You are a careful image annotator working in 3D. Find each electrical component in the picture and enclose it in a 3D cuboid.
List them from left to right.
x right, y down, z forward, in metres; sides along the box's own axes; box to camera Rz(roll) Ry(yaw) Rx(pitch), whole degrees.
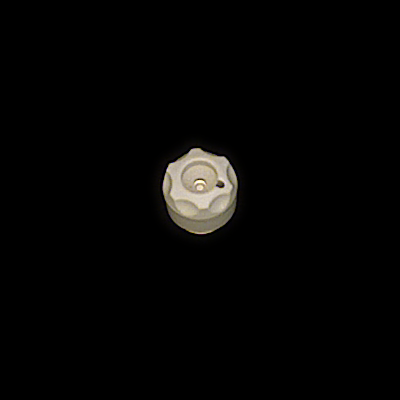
[{"bbox_3d":[0.000,0.000,0.634,0.043,0.043,0.062,0,-27,1],"label":"electrical component"}]
